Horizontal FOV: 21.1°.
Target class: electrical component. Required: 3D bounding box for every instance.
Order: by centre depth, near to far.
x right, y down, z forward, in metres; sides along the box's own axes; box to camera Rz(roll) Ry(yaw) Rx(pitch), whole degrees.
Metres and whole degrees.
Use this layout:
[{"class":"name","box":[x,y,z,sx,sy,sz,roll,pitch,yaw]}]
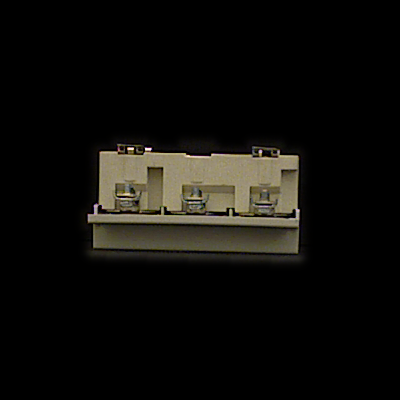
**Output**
[{"class":"electrical component","box":[0.000,0.000,0.654,0.121,0.063,0.078,1,1,5]}]
